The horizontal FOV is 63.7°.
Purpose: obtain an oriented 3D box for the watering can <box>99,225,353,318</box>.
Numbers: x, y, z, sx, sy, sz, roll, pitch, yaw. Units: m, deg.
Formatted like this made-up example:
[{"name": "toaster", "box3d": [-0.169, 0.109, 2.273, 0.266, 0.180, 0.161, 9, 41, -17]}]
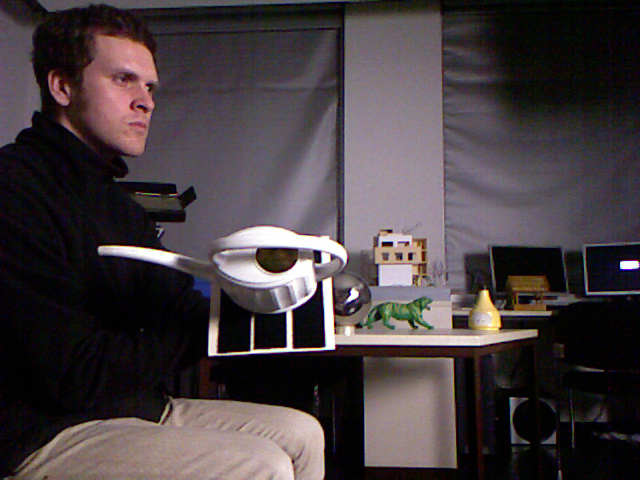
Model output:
[{"name": "watering can", "box3d": [-0.126, 0.043, 0.783, 0.349, 0.106, 0.221, -1, -26, 1]}]
